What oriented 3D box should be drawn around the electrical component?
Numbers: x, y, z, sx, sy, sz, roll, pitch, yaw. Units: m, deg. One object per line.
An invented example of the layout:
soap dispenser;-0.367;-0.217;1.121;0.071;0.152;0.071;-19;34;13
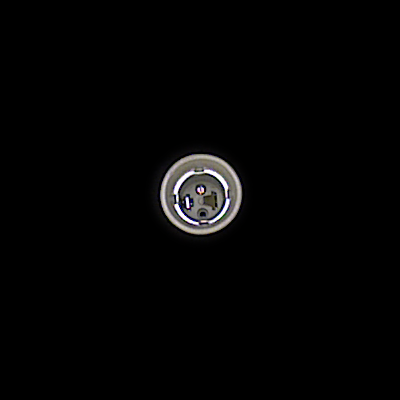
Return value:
electrical component;0.000;0.000;0.625;0.044;0.044;0.065;0;-7;1
